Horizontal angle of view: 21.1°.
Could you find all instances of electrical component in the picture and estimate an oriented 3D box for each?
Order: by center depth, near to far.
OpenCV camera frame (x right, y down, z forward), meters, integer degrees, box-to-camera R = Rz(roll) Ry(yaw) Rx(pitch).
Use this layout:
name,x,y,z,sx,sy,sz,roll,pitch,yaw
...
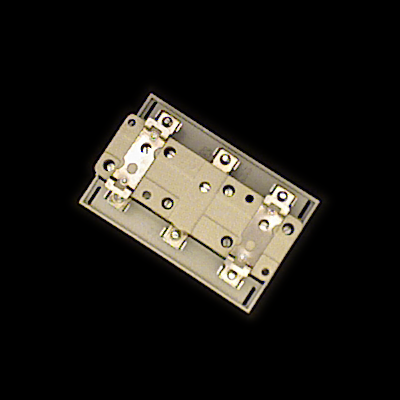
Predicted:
name,x,y,z,sx,sy,sz,roll,pitch,yaw
electrical component,0.000,0.000,0.634,0.121,0.079,0.063,33,-4,4
